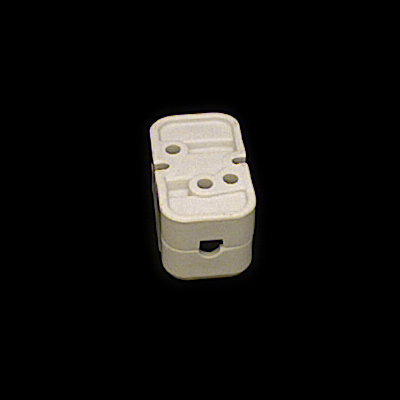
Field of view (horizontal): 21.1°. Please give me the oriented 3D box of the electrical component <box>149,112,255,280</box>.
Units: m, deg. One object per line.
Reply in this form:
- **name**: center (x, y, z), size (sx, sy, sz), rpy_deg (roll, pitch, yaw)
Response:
- **electrical component**: center (0.000, 0.000, 0.639), size (0.054, 0.060, 0.094), rpy_deg (-4, 42, -5)
